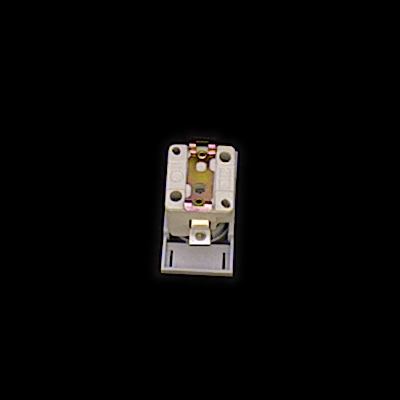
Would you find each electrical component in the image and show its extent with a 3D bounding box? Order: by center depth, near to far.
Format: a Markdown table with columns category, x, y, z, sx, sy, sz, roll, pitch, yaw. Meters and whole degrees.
| category | x | y | z | sx | sy | sz | roll | pitch | yaw |
| --- | --- | --- | --- | --- | --- | --- | --- | --- | --- |
| electrical component | 0.000 | 0.000 | 0.626 | 0.042 | 0.081 | 0.063 | 2 | -27 | 1 |
